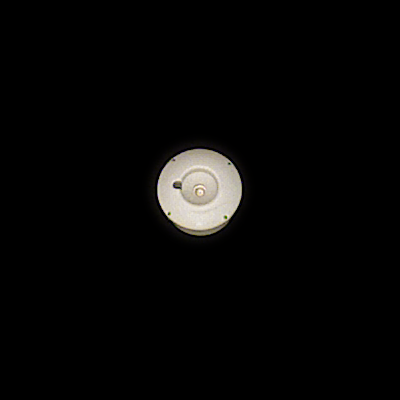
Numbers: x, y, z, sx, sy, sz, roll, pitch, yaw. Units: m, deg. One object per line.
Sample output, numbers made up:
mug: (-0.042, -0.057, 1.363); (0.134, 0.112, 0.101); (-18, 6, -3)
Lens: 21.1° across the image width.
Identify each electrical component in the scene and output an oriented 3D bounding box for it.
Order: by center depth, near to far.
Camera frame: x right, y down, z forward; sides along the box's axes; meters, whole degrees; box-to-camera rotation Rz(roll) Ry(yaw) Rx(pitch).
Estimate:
electrical component: (0.000, 0.000, 0.632); (0.048, 0.048, 0.061); (0, -16, 1)
